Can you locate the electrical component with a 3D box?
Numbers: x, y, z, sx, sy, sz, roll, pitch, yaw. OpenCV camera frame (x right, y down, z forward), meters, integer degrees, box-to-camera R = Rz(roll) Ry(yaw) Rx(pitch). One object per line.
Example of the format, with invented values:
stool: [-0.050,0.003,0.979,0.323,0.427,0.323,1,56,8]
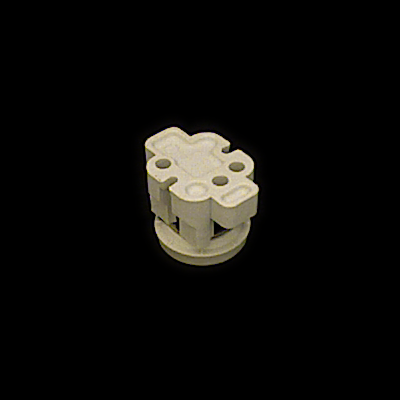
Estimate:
electrical component: [0.000,0.000,0.639,0.058,0.057,0.077,-31,50,-29]
